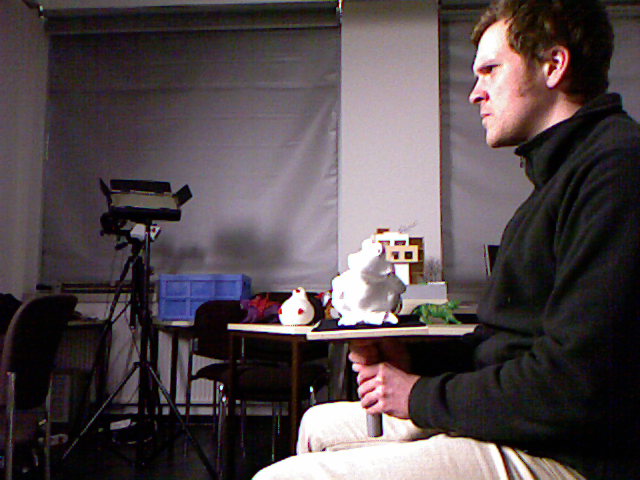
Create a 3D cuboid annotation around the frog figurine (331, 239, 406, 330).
[{"bbox_3d":[0.085,0.078,0.942,0.137,0.159,0.123,-3,1,24],"label":"frog figurine"}]
